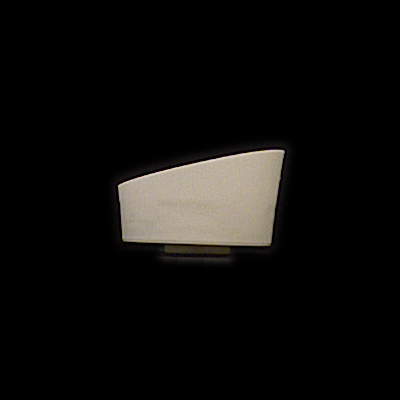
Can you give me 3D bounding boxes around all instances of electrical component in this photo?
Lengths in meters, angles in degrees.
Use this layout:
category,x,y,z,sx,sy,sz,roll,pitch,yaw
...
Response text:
category,x,y,z,sx,sy,sz,roll,pitch,yaw
electrical component,0.000,0.000,0.650,0.099,0.064,0.099,2,-1,0
